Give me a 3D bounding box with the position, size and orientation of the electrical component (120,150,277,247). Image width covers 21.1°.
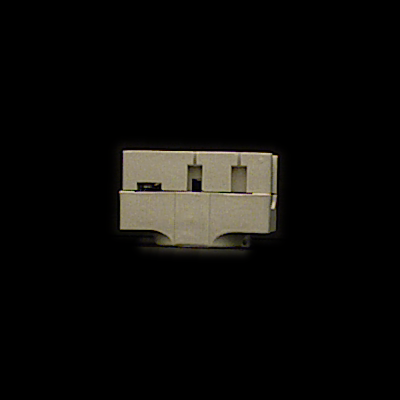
[{"bbox_3d":[0.000,0.000,0.657,0.089,0.056,0.050,2,1,9],"label":"electrical component"}]
